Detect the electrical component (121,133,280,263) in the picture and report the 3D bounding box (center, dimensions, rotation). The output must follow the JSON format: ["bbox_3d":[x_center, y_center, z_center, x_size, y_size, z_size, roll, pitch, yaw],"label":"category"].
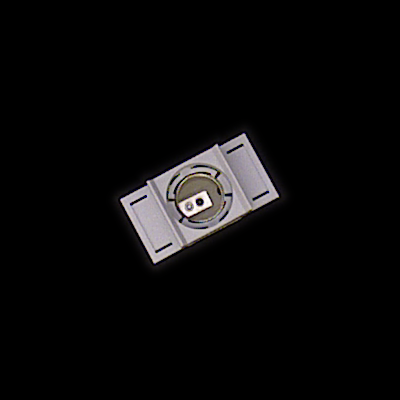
[{"bbox_3d":[0.000,0.000,0.624,0.081,0.042,0.063,-28,-4,-3],"label":"electrical component"}]
